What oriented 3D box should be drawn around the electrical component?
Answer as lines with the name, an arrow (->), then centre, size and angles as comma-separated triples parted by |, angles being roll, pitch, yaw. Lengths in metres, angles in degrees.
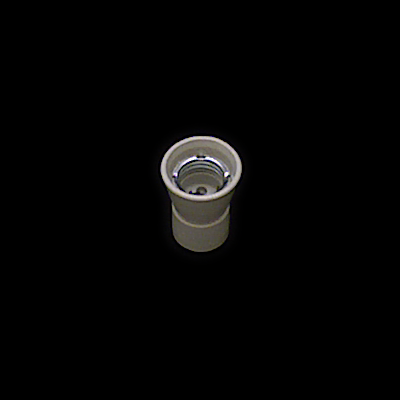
electrical component -> 0.000, 0.000, 0.625 | 0.044, 0.044, 0.065 | 0, -37, -1
